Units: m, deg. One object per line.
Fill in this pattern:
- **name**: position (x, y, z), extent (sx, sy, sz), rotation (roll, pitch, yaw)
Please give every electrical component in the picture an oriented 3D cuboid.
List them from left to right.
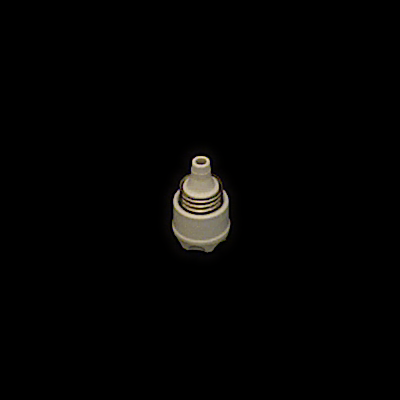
- **electrical component**: position (0.000, 0.000, 0.642), extent (0.035, 0.062, 0.035), rotation (0, 41, 0)
